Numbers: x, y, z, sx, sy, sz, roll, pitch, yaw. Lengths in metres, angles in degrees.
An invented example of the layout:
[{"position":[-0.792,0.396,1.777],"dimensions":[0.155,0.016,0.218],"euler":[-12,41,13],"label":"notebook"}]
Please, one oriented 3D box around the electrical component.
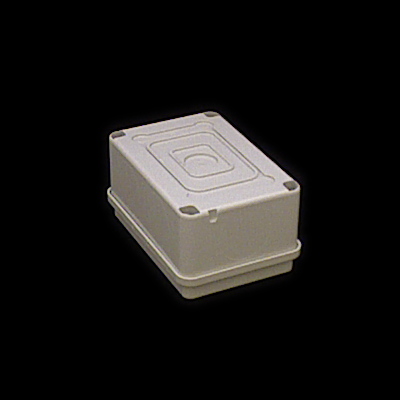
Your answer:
[{"position":[0.000,0.000,0.635],"dimensions":[0.078,0.058,0.111],"euler":[-14,34,-23],"label":"electrical component"}]
